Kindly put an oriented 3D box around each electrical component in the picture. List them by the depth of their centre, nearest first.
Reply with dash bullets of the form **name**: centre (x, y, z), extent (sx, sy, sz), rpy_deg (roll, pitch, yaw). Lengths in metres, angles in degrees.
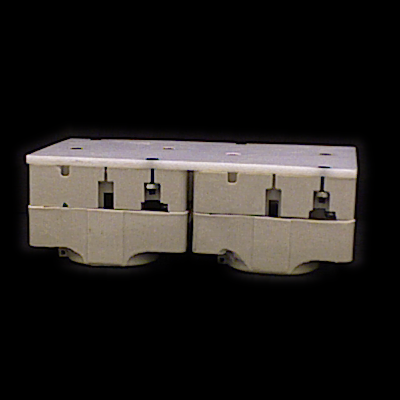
- **electrical component**: centre (0.000, 0.000, 0.644), extent (0.186, 0.061, 0.105), rpy_deg (3, 10, 7)
